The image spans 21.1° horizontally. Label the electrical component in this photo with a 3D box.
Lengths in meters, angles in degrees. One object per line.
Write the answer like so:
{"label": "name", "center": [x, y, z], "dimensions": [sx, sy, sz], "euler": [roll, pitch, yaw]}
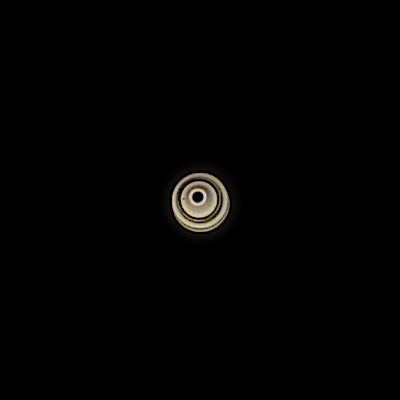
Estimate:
{"label": "electrical component", "center": [0.000, 0.000, 0.637], "dimensions": [0.035, 0.035, 0.061], "euler": [0, -4, 2]}
